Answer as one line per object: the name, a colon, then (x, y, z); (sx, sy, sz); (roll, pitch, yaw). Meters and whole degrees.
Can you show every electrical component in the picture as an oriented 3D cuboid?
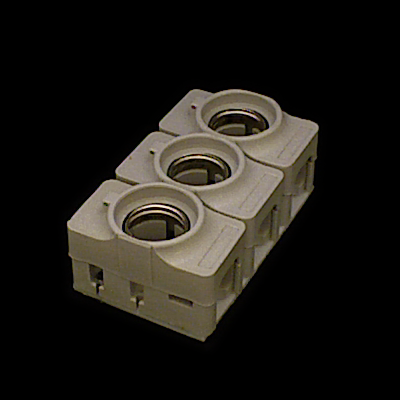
electrical component: (0.000, 0.000, 0.636); (0.089, 0.063, 0.148); (19, 44, 20)
